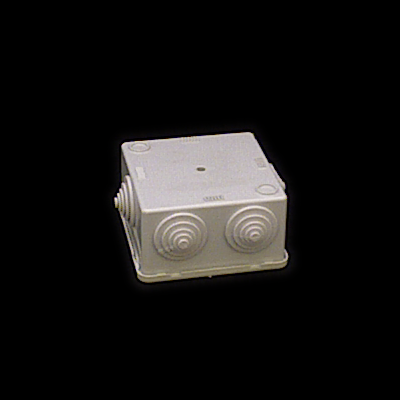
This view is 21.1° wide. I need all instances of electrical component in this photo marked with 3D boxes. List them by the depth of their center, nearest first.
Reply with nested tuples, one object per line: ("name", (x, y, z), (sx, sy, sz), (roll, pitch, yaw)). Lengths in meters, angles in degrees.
("electrical component", (0.000, 0.000, 0.638), (0.100, 0.049, 0.098), (-5, 32, -11))
